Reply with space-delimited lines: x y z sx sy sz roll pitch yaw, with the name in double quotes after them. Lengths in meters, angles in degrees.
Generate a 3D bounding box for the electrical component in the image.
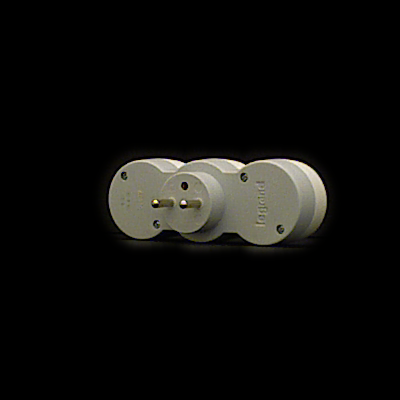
0.000 0.000 0.654 0.136 0.052 0.074 2 3 30 "electrical component"
